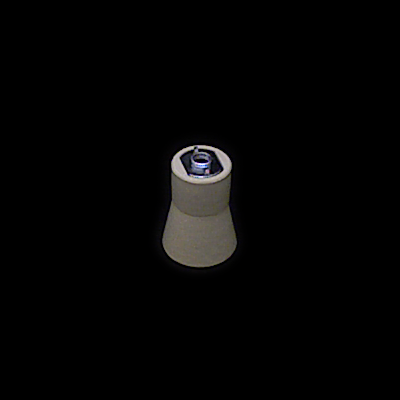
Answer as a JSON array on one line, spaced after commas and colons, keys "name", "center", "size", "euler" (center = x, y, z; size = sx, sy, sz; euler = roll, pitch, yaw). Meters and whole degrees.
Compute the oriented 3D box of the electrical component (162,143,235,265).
[{"name": "electrical component", "center": [0.000, 0.000, 0.629], "size": [0.044, 0.066, 0.044], "euler": [1, 41, -1]}]
